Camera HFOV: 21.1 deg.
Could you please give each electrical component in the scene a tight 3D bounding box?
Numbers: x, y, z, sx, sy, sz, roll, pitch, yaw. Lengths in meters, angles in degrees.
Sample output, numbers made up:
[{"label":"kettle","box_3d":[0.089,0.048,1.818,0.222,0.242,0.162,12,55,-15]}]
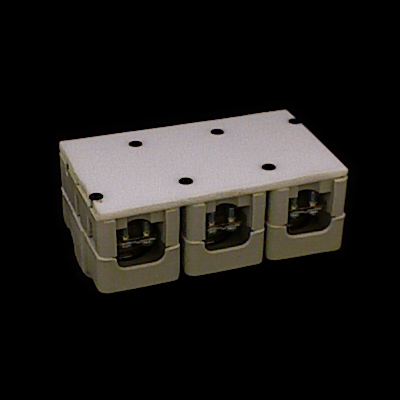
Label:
[{"label":"electrical component","box_3d":[0.000,0.000,0.643,0.150,0.063,0.087,-9,33,-17]}]
